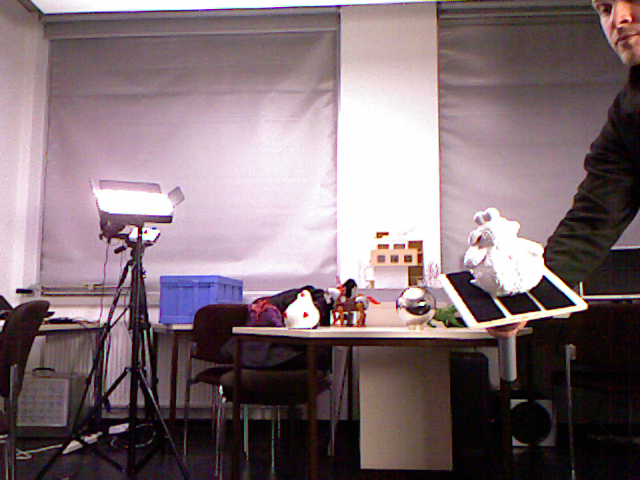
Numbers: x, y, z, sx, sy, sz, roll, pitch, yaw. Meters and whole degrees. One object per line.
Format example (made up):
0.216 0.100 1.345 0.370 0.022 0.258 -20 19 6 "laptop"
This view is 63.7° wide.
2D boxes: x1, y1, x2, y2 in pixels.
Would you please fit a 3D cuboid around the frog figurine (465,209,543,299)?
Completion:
0.342 0.023 0.962 0.137 0.157 0.125 -2 29 19 "frog figurine"
